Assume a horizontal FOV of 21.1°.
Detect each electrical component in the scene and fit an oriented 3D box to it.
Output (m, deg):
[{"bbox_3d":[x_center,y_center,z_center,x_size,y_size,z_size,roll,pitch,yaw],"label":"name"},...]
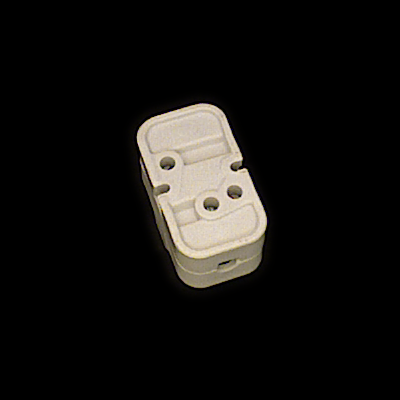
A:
[{"bbox_3d":[0.000,0.000,0.636,0.054,0.095,0.059,-17,-26,-8],"label":"electrical component"}]
